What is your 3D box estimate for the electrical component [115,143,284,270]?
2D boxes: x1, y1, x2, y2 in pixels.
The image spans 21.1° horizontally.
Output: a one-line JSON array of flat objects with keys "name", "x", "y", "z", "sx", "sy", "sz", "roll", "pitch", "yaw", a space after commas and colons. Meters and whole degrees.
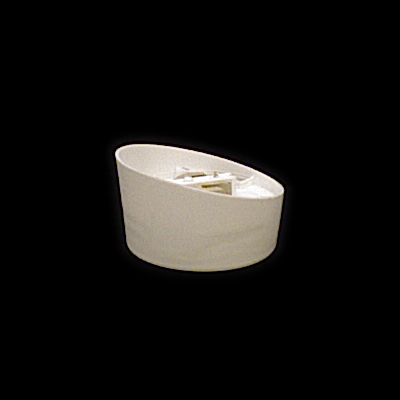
[{"name": "electrical component", "x": 0.000, "y": 0.000, "z": 0.636, "sx": 0.099, "sy": 0.065, "sz": 0.097, "roll": 1, "pitch": 21, "yaw": 0}]
